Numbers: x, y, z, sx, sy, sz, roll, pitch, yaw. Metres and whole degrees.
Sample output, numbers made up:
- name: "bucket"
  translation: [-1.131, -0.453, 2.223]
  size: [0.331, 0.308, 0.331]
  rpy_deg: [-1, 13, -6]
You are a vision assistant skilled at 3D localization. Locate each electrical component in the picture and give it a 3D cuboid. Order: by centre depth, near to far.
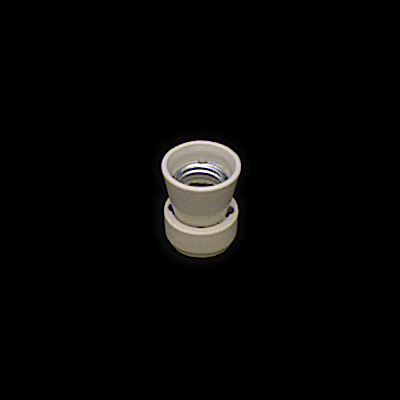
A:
- name: "electrical component"
  translation: [0.000, 0.000, 0.632]
  size: [0.045, 0.055, 0.044]
  rpy_deg: [1, 41, 0]
